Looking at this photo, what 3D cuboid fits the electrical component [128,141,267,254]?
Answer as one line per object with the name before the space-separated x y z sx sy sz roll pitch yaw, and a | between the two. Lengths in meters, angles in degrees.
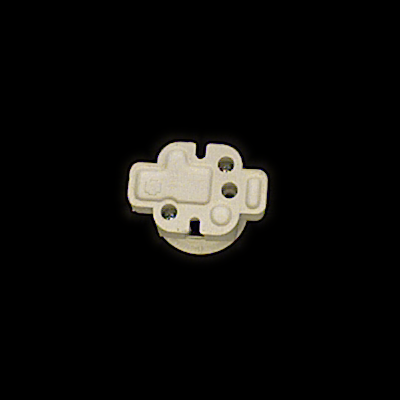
electrical component | 0.000 0.000 0.635 0.078 0.058 0.056 3 -15 2
